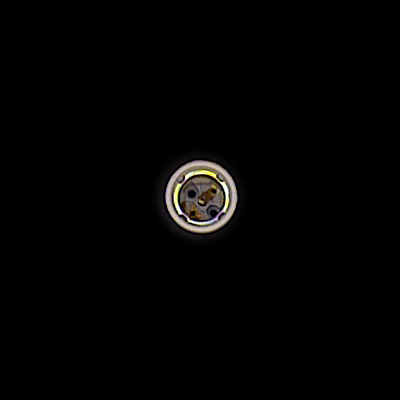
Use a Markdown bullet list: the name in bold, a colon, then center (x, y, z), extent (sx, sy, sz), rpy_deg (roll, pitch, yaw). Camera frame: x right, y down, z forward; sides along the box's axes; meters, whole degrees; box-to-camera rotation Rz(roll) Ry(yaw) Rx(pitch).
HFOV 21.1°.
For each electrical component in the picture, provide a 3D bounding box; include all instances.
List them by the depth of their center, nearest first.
- **electrical component**: center (0.000, 0.000, 0.627), extent (0.040, 0.040, 0.046), rpy_deg (0, -6, 0)
